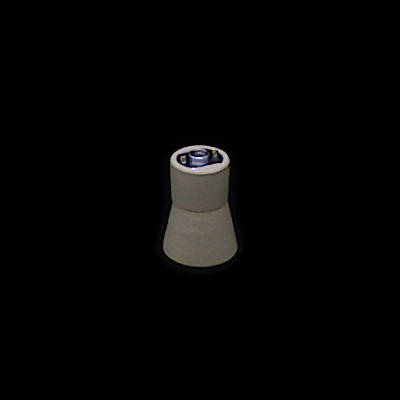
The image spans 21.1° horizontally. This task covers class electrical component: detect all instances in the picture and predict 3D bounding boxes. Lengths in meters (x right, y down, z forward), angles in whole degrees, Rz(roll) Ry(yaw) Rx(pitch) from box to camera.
[{"bbox_3d":[0.000,0.000,0.635,0.044,0.066,0.044,0,31,0],"label":"electrical component"}]
